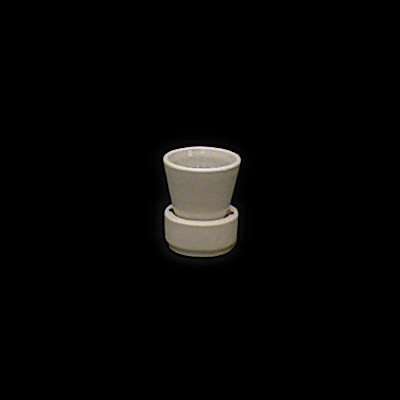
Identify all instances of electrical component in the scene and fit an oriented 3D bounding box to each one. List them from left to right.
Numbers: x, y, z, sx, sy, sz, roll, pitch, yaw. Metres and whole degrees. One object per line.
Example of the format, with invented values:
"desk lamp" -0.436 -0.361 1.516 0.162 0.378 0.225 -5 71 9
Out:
"electrical component" 0.000 0.000 0.640 0.045 0.056 0.044 1 21 0
